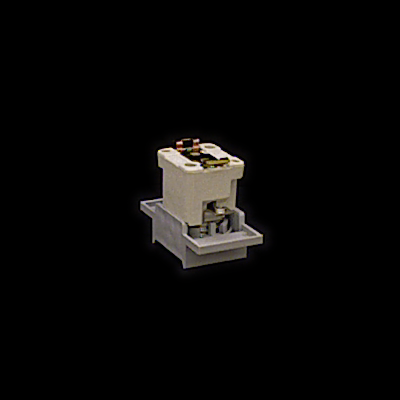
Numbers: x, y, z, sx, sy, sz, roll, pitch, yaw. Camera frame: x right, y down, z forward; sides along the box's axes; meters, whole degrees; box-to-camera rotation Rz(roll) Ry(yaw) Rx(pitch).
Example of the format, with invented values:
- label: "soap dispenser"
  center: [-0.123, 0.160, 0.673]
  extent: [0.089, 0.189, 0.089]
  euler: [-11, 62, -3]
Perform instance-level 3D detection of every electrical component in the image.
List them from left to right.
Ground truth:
- label: "electrical component"
  center: [0.000, 0.000, 0.638]
  extent: [0.042, 0.064, 0.080]
  euler: [-10, 23, -26]
